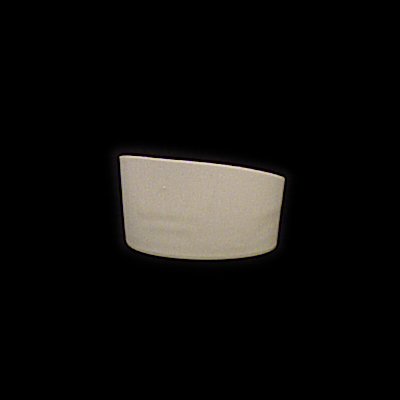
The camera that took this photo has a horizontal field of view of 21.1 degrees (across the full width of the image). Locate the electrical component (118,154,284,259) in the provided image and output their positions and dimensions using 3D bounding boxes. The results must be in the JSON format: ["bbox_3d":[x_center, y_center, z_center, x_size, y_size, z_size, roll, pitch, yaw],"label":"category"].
[{"bbox_3d":[0.000,0.000,0.642,0.099,0.064,0.098,1,11,0],"label":"electrical component"}]
